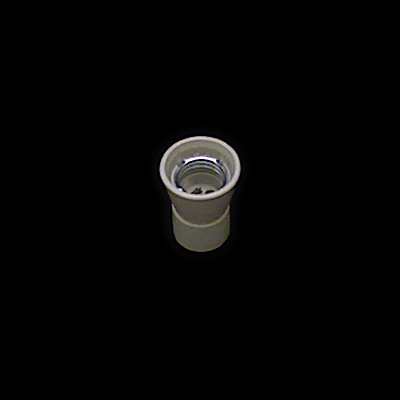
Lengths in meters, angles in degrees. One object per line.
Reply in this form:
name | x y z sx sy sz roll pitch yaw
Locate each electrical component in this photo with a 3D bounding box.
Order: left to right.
electrical component | 0.000 0.000 0.625 0.044 0.044 0.065 0 -36 0
